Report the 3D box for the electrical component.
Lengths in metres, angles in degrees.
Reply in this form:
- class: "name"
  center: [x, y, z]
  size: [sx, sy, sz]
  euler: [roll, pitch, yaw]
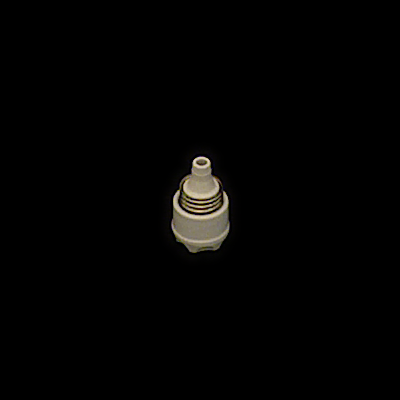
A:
- class: "electrical component"
  center: [0.000, 0.000, 0.642]
  size: [0.035, 0.062, 0.035]
  euler: [1, 42, -1]
